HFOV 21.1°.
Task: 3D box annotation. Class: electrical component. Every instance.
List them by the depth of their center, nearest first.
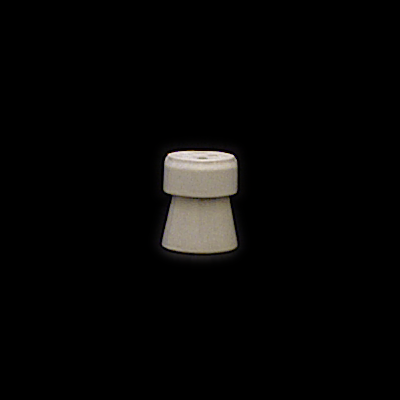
[{"bbox_3d":[0.000,0.000,0.643,0.045,0.055,0.044,1,12,0],"label":"electrical component"}]
